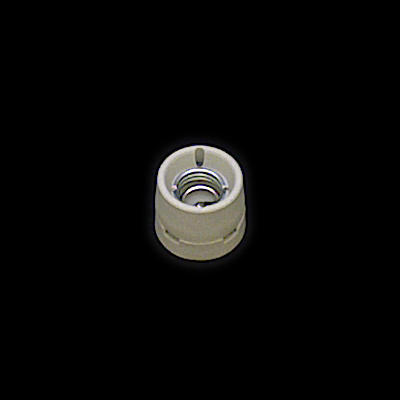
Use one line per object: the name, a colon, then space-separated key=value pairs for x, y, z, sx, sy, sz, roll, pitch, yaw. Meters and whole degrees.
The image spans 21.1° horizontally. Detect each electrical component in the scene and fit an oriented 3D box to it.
electrical component: x=0.000 y=0.000 z=0.633 sx=0.055 sy=0.055 sz=0.047 roll=0 pitch=-36 yaw=0
